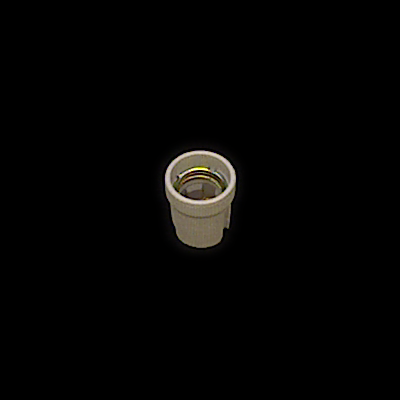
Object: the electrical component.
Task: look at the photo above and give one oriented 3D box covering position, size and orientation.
[{"bbox_3d":[0.000,0.000,0.631,0.040,0.039,0.047,0,-38,-1],"label":"electrical component"}]
